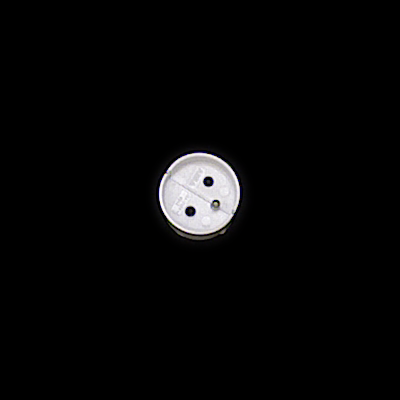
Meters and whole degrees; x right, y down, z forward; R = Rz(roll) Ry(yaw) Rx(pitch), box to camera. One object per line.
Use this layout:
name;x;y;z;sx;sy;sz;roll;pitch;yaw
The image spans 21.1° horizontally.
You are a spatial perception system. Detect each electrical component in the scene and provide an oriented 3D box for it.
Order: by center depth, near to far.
electrical component;0.000;0.000;0.616;0.043;0.043;0.080;0;-5;0
